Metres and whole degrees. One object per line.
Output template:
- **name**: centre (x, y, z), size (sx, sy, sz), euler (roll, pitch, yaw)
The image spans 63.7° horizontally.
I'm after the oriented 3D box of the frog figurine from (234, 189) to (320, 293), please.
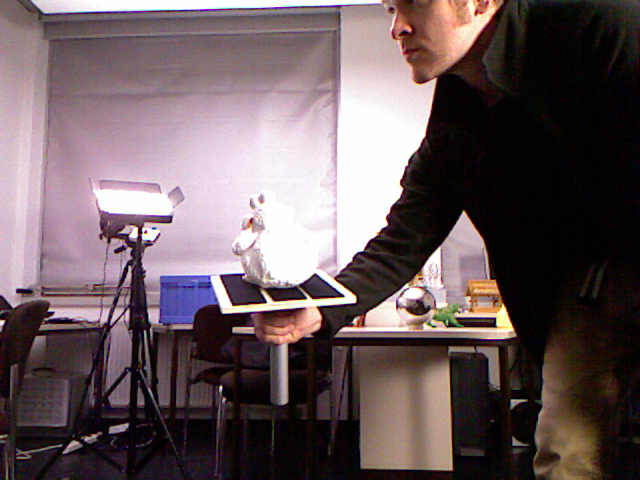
- **frog figurine**: centre (-0.070, -0.001, 0.836), size (0.138, 0.158, 0.124), euler (0, 15, 6)
